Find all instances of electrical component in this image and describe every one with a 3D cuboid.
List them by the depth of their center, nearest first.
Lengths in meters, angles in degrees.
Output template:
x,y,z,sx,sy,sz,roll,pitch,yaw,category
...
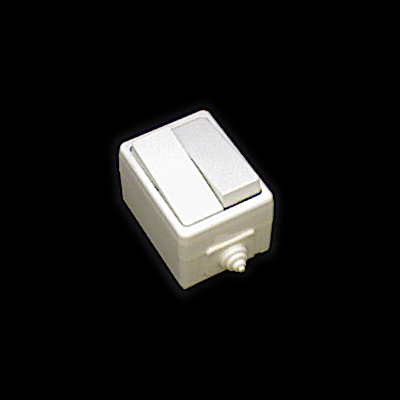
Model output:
x,y,z,sx,sy,sz,roll,pitch,yaw,category
0.000,0.000,0.627,0.062,0.096,0.061,-24,-34,-18,electrical component
